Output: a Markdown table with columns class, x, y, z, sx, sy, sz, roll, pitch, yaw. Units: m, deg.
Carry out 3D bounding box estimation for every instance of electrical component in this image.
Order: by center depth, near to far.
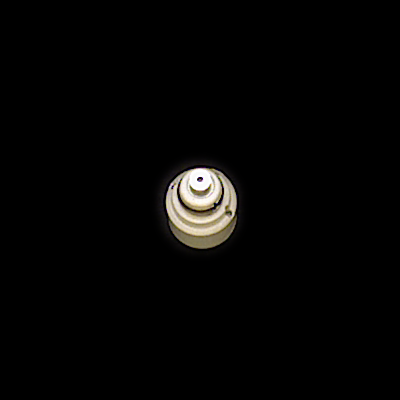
| class | x | y | z | sx | sy | sz | roll | pitch | yaw |
| --- | --- | --- | --- | --- | --- | --- | --- | --- | --- |
| electrical component | 0.000 | 0.000 | 0.617 | 0.040 | 0.040 | 0.078 | 0 | -17 | 2 |
